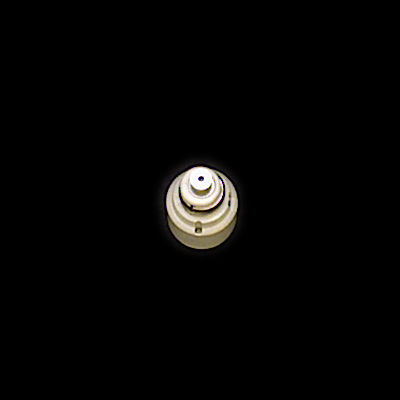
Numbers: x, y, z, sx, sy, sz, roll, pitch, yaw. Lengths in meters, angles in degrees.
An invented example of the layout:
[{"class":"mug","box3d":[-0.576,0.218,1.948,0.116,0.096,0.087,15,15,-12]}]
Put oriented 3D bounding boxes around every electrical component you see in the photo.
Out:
[{"class":"electrical component","box3d":[0.000,0.000,0.617,0.040,0.040,0.078,0,-18,1]}]
